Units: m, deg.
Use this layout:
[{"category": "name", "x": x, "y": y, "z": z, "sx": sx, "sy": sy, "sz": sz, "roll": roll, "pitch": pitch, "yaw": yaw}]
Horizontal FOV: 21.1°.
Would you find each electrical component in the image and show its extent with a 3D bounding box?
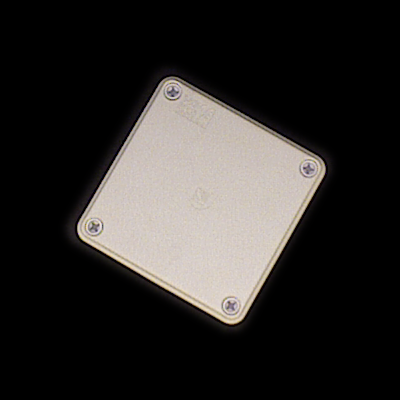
[{"category": "electrical component", "x": 0.000, "y": 0.000, "z": 0.630, "sx": 0.109, "sy": 0.109, "sz": 0.056, "roll": 30, "pitch": -5, "yaw": 3}]
